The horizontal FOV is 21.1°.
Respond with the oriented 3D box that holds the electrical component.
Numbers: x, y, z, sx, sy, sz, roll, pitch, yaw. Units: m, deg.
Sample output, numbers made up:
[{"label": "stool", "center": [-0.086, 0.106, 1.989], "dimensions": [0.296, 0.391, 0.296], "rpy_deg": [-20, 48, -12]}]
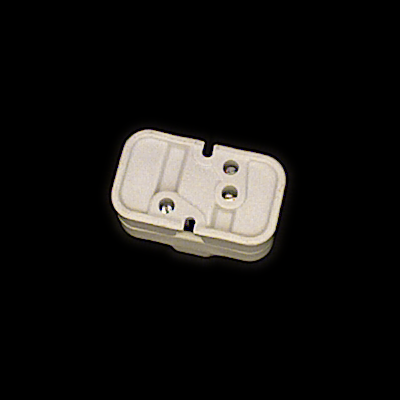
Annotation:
[{"label": "electrical component", "center": [0.000, 0.000, 0.636], "dimensions": [0.095, 0.054, 0.059], "rpy_deg": [12, -15, 4]}]
